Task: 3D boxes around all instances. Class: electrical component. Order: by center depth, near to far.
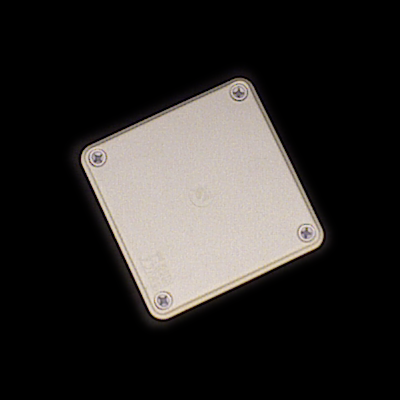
[{"bbox_3d":[0.000,0.000,0.631,0.109,0.109,0.056,-25,-6,-3],"label":"electrical component"}]
